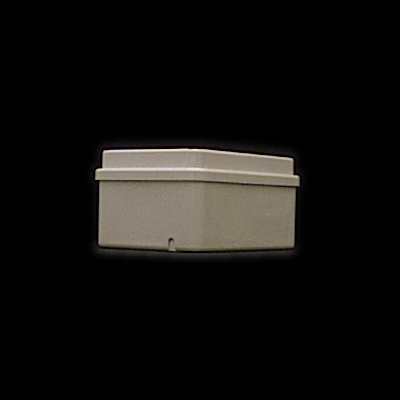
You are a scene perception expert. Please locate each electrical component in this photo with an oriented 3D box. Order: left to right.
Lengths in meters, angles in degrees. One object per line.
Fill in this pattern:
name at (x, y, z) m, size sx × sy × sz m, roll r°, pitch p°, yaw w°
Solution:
electrical component at (0.000, 0.000, 0.651) m, size 0.078 × 0.057 × 0.114 m, roll 1°, pitch 0°, yaw 36°
